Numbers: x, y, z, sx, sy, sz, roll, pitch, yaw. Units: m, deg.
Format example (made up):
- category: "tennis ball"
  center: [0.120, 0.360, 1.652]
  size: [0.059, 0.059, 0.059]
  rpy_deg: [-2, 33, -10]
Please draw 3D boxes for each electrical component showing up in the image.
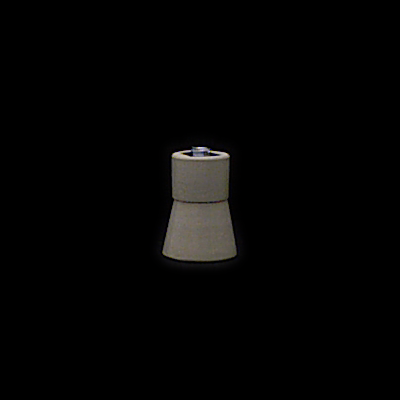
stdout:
- category: "electrical component"
  center: [0.000, 0.000, 0.643]
  size: [0.044, 0.066, 0.044]
  rpy_deg: [0, 12, 0]
